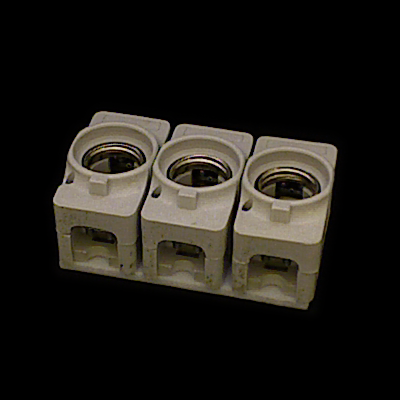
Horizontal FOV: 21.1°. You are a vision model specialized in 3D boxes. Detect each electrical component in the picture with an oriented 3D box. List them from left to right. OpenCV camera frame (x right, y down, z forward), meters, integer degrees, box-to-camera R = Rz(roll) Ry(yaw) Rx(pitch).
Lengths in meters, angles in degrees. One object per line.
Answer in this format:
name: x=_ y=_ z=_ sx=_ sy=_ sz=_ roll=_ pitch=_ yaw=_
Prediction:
electrical component: x=0.000 y=0.000 z=0.635 sx=0.150 sy=0.063 sz=0.088 roll=8 pitch=43 yaw=9
